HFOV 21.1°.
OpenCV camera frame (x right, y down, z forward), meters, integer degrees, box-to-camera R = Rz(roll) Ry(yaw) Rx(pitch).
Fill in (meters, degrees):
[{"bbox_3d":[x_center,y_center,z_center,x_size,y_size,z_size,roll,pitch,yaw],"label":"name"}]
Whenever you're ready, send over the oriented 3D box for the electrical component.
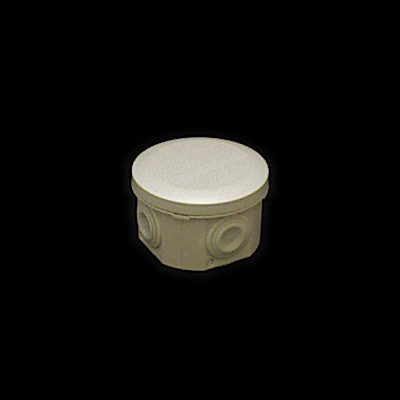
[{"bbox_3d":[0.000,0.000,0.634,0.080,0.051,0.079,1,31,0],"label":"electrical component"}]
